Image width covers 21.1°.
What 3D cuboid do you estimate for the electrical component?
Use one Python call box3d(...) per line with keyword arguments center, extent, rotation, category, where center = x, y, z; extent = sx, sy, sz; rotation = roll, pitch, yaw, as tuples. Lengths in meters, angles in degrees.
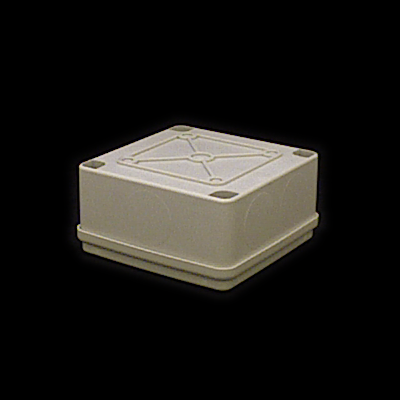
box3d(center=(0.000, 0.000, 0.637), extent=(0.108, 0.057, 0.108), rotation=(14, 24, 31), category="electrical component")
